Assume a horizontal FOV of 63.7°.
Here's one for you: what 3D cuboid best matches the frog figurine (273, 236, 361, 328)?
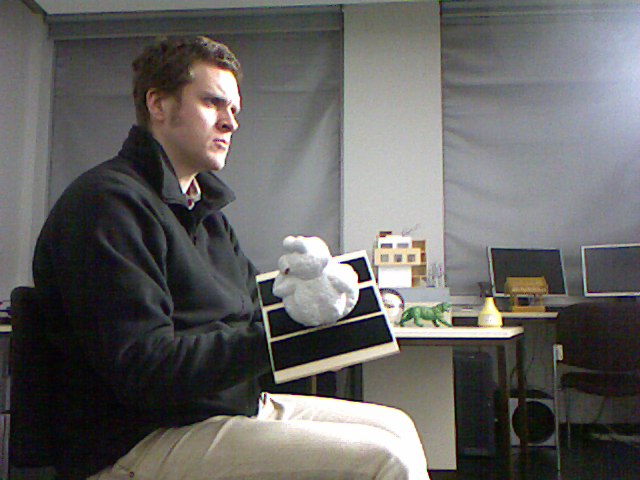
[{"bbox_3d":[-0.006,0.064,0.810,0.138,0.126,0.156,5,-31,11],"label":"frog figurine"}]
